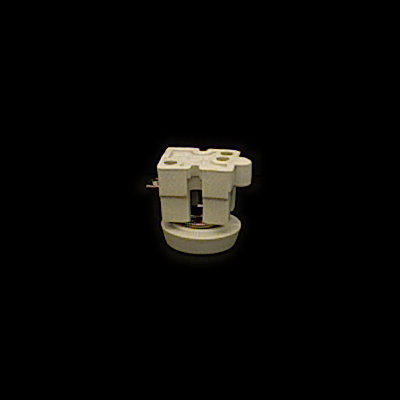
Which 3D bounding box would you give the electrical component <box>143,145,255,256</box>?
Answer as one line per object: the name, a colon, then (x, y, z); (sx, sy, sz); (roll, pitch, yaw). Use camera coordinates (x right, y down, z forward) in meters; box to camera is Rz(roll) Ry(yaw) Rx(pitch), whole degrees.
electrical component: (0.000, 0.000, 0.648); (0.066, 0.056, 0.048); (4, 23, 8)
